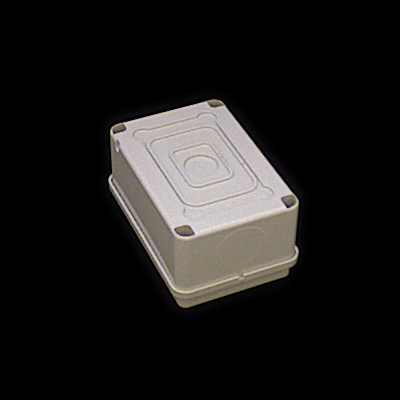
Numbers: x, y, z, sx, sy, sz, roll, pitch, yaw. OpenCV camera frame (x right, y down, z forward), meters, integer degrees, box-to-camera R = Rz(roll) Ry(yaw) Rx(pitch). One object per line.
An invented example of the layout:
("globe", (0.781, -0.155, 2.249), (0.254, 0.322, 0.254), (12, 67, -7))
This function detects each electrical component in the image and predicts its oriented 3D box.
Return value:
("electrical component", (0.000, 0.000, 0.631), (0.078, 0.057, 0.112), (-16, 45, -18))
